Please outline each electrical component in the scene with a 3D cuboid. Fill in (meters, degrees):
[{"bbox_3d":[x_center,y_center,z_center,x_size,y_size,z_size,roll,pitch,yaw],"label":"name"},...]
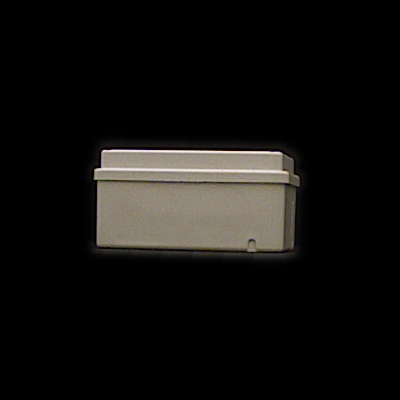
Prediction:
[{"bbox_3d":[-0.001,0.000,0.647,0.113,0.057,0.078,2,0,10],"label":"electrical component"}]
